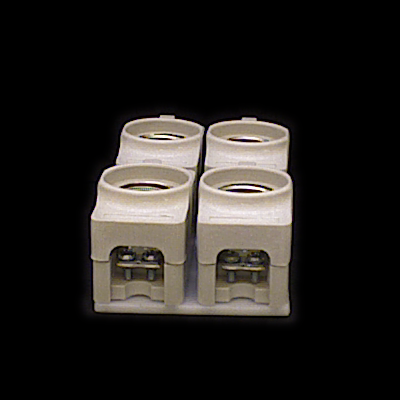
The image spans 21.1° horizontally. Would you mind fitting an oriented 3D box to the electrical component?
[{"bbox_3d":[0.000,0.000,0.639,0.105,0.061,0.184,2,20,2],"label":"electrical component"}]
